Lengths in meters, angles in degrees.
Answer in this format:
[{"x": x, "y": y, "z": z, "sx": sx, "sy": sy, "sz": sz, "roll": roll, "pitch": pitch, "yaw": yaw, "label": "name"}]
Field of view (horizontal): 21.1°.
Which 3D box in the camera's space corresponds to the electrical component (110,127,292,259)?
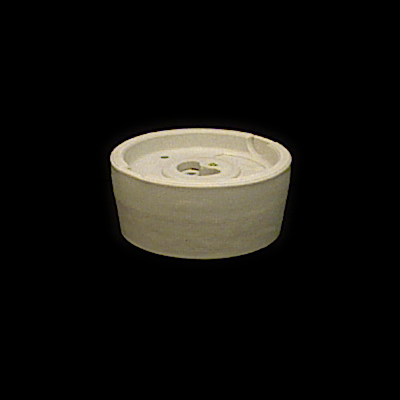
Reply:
[{"x": 0.000, "y": 0.000, "z": 0.650, "sx": 0.108, "sy": 0.061, "sz": 0.106, "roll": 1, "pitch": 21, "yaw": 0, "label": "electrical component"}]
